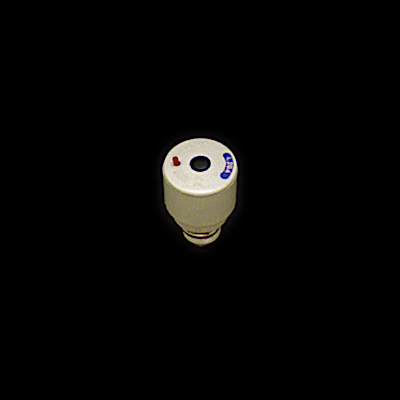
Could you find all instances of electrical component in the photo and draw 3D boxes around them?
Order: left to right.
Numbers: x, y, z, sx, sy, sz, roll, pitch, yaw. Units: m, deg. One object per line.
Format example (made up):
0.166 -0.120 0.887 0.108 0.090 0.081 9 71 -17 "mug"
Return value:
0.000 0.000 0.621 0.040 0.040 0.079 0 -38 0 "electrical component"
